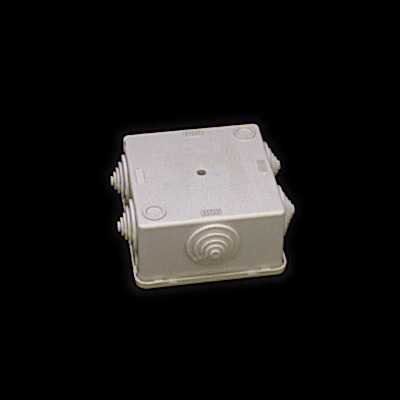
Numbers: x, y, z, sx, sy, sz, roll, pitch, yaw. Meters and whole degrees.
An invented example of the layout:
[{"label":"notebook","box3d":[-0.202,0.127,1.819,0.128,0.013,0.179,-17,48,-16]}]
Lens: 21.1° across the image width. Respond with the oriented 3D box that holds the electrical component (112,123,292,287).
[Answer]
[{"label":"electrical component","box3d":[0.000,0.000,0.635,0.100,0.049,0.098,-5,43,-7]}]
